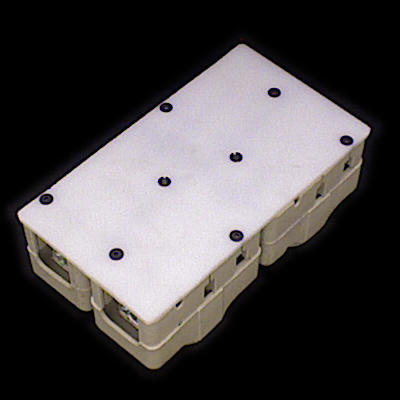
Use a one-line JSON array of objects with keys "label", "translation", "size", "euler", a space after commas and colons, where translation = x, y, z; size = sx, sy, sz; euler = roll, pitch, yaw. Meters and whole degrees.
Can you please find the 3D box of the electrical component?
[{"label": "electrical component", "translation": [0.000, 0.000, 0.627], "size": [0.105, 0.060, 0.186], "euler": [37, 60, 24]}]
